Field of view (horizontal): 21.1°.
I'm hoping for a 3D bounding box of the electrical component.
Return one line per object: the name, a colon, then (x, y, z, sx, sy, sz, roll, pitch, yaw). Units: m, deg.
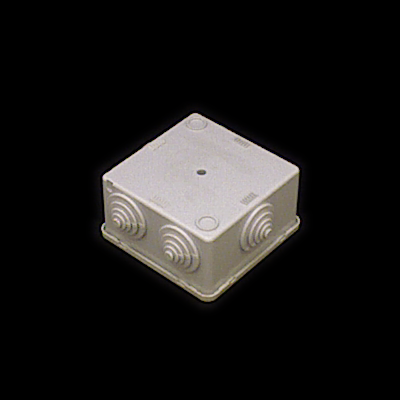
electrical component: (0.000, 0.000, 0.634, 0.099, 0.049, 0.099, 31, 50, 29)
